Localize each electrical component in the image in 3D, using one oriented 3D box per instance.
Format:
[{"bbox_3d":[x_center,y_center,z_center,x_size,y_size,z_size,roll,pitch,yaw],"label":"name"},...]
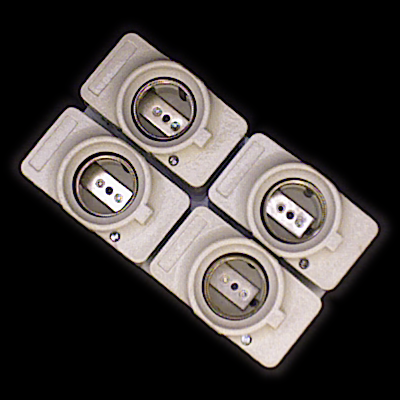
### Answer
[{"bbox_3d":[0.000,0.000,0.626,0.186,0.106,0.060,38,-5,4],"label":"electrical component"}]
